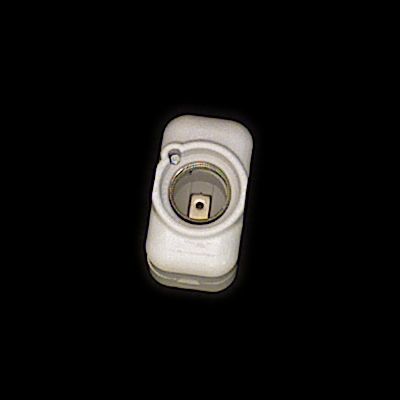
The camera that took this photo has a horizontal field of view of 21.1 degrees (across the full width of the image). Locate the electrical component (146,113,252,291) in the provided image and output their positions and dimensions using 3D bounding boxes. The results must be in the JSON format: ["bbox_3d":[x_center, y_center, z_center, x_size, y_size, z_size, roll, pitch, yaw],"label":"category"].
[{"bbox_3d":[0.000,0.000,0.634,0.054,0.095,0.059,7,-16,2],"label":"electrical component"}]
